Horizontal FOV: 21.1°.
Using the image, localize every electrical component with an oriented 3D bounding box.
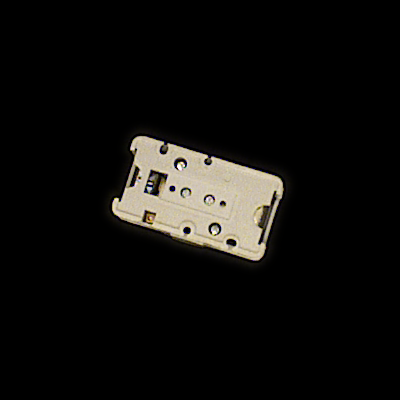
[{"bbox_3d":[0.000,0.000,0.637,0.089,0.050,0.055,17,-5,2],"label":"electrical component"}]
